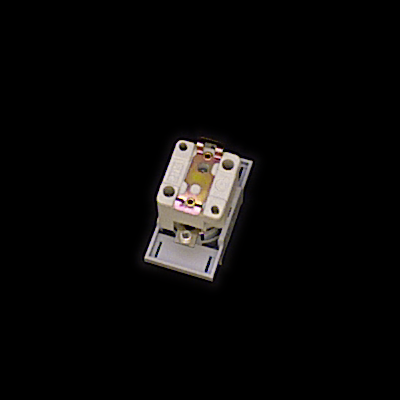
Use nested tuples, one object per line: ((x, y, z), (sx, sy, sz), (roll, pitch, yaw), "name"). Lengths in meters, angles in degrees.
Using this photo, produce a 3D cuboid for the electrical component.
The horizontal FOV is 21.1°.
((0.000, 0.000, 0.625), (0.042, 0.081, 0.063), (16, -26, 7), "electrical component")
